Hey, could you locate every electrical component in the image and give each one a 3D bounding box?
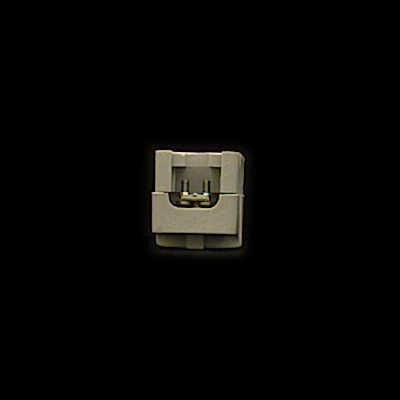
[{"bbox_3d":[0.000,0.000,0.657,0.050,0.056,0.089,2,2,4],"label":"electrical component"}]
